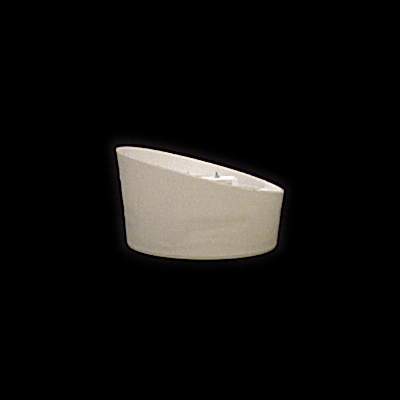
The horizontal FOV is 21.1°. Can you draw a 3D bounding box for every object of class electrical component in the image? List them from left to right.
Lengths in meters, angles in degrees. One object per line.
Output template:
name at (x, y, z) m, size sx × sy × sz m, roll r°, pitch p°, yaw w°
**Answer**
electrical component at (0.000, 0.000, 0.642) m, size 0.099 × 0.064 × 0.098 m, roll 1°, pitch 11°, yaw 0°
